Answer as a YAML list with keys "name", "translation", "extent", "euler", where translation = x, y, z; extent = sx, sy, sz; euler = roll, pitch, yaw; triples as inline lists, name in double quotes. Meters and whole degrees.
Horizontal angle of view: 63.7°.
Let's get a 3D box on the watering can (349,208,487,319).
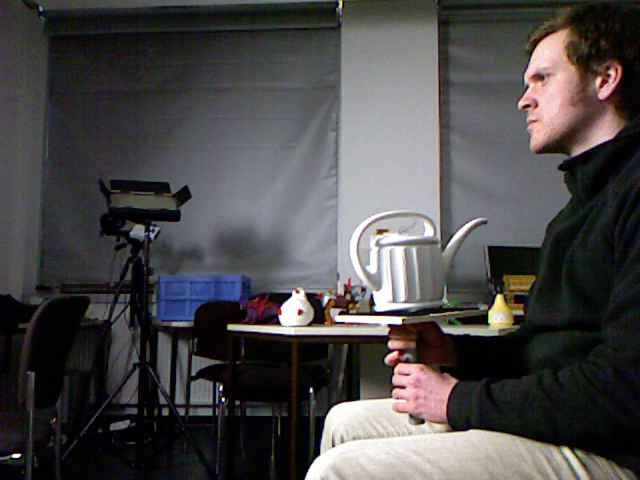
- name: "watering can"
  translation: [0.206, 0.049, 1.008]
  extent: [0.348, 0.225, 0.104]
  euler: [-1, -1, -29]
